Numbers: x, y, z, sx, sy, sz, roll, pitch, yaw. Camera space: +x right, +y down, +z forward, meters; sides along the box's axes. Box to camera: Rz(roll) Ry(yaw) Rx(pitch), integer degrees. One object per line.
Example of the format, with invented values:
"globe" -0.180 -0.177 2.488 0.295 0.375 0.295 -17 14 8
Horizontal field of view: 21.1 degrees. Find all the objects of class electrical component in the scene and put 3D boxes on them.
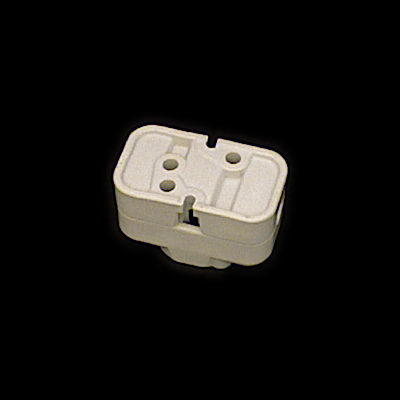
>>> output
"electrical component" 0.000 0.000 0.634 0.095 0.053 0.059 13 -36 9
